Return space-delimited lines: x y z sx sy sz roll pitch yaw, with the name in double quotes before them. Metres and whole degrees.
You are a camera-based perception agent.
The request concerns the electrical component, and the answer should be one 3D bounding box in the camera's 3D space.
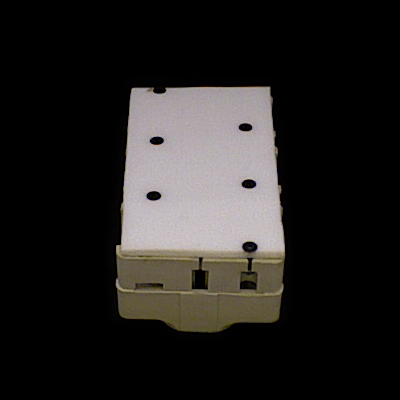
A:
"electrical component" 0.000 0.000 0.634 0.089 0.063 0.147 0 42 0
